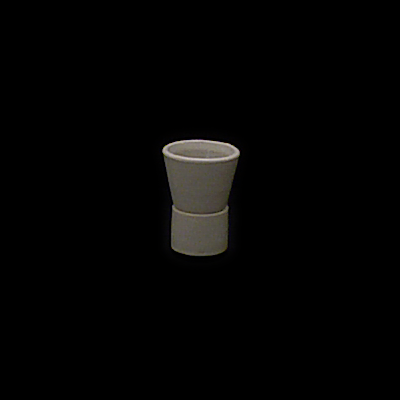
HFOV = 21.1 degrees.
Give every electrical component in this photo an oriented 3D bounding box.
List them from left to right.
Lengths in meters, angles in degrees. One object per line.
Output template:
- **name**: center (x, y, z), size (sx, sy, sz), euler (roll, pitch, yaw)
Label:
- **electrical component**: center (0.000, 0.000, 0.640), size (0.044, 0.066, 0.044), euler (1, 20, 0)
